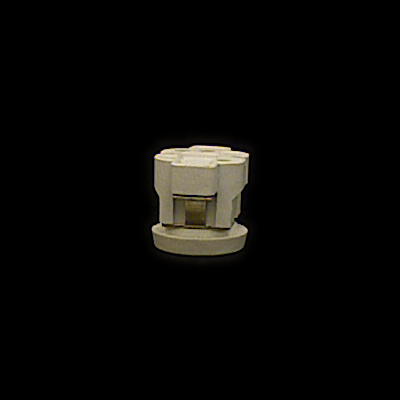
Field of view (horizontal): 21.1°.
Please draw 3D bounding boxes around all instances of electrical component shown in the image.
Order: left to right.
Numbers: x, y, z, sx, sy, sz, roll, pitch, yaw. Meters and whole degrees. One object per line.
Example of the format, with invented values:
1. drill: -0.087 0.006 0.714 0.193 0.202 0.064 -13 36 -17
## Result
1. electrical component: 0.000 0.000 0.650 0.058 0.057 0.078 3 13 7
